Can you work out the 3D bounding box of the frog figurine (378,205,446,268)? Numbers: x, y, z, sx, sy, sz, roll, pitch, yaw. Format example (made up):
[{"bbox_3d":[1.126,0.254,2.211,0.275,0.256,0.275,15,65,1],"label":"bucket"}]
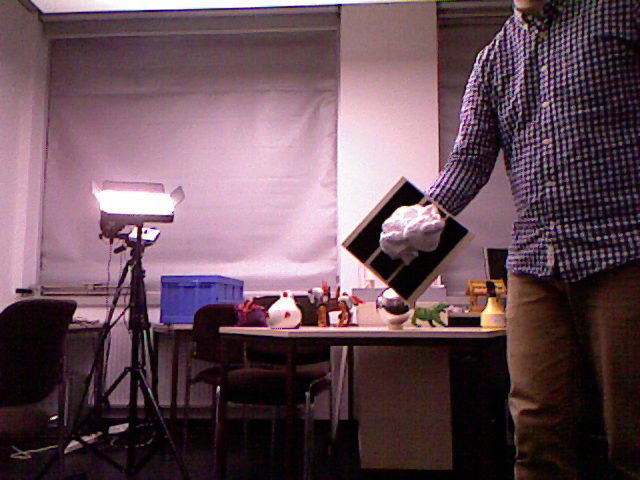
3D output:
[{"bbox_3d":[0.183,-0.018,1.042,0.138,0.124,0.158,-32,-11,-3],"label":"frog figurine"}]
